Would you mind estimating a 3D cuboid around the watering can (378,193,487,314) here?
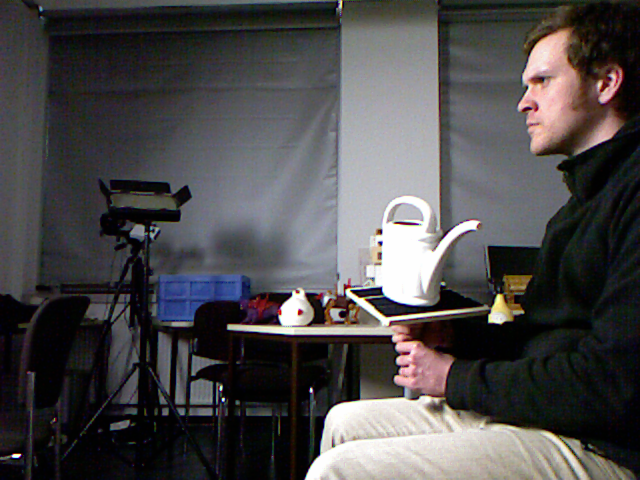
[{"bbox_3d":[0.186,0.033,0.941,0.104,0.223,0.350,-5,12,-17],"label":"watering can"}]
